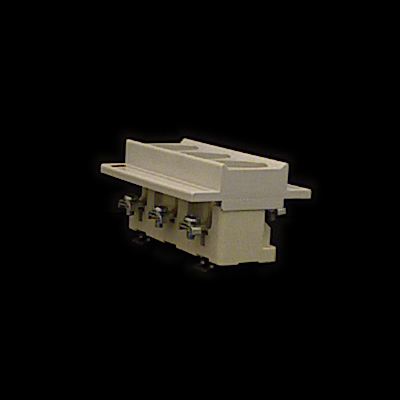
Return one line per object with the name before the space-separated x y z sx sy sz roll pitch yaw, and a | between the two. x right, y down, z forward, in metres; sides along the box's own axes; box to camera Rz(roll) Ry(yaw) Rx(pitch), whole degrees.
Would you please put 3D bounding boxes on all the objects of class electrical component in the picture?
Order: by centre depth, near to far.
electrical component | 0.000 0.000 0.658 0.079 0.063 0.120 -4 12 -29
